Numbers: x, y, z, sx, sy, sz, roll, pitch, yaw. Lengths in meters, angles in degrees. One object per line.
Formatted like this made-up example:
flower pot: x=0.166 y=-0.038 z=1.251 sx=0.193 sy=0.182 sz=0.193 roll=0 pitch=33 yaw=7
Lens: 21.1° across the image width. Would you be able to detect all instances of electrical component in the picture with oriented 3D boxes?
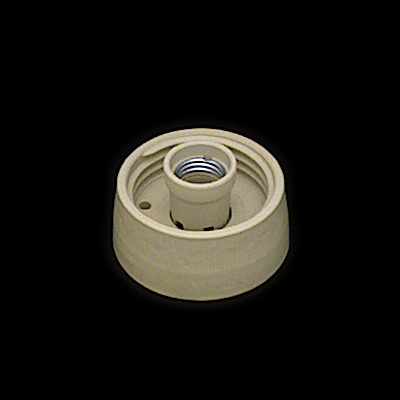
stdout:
electrical component: x=0.000 y=0.000 z=0.639 sx=0.108 sy=0.061 sz=0.106 roll=1 pitch=43 yaw=0
